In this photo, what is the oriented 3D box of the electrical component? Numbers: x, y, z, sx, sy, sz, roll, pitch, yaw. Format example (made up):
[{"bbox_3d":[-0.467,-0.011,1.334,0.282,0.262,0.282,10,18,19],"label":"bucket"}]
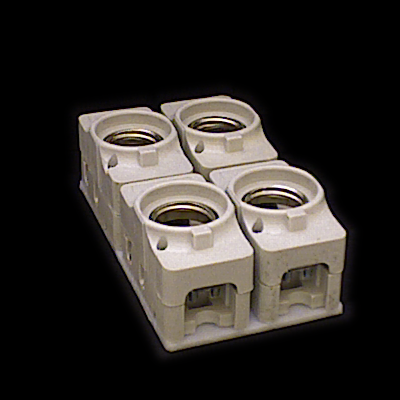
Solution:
[{"bbox_3d":[0.000,0.000,0.634,0.105,0.061,0.184,-10,33,-17],"label":"electrical component"}]
